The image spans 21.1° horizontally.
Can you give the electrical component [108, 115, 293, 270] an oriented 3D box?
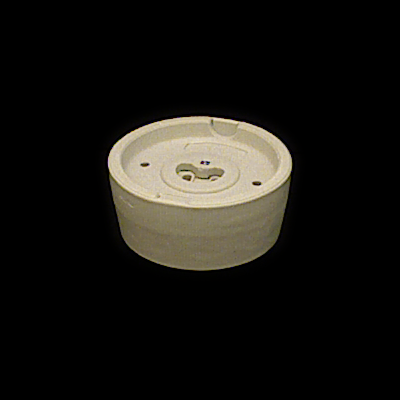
[{"bbox_3d":[0.000,0.000,0.645,0.108,0.061,0.106,1,32,0],"label":"electrical component"}]
